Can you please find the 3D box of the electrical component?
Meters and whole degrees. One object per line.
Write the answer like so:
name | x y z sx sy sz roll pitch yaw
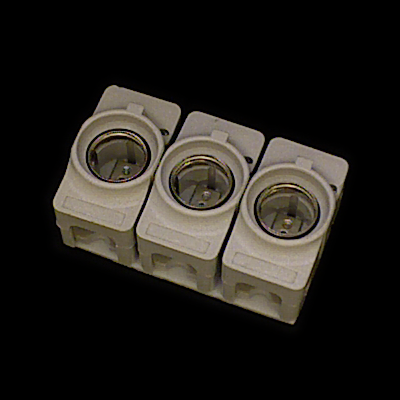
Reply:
electrical component | 0.000 0.000 0.632 0.150 0.089 0.062 19 -26 9
